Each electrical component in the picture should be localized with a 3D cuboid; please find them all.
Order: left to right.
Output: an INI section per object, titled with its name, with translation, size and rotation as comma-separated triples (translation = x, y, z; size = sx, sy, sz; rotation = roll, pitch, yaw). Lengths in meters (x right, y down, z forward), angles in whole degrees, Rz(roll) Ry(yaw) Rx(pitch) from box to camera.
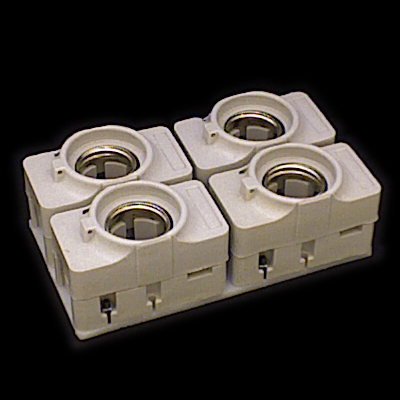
[electrical component]
translation = 0.000, 0.000, 0.629
size = 0.186, 0.061, 0.104
rotation = -15, 44, -17
